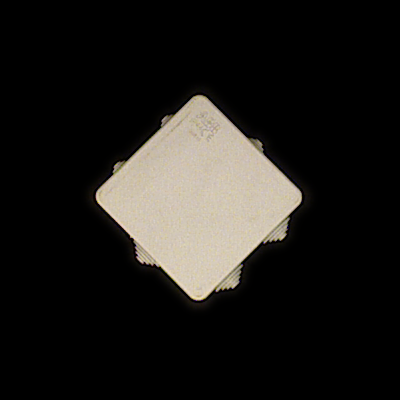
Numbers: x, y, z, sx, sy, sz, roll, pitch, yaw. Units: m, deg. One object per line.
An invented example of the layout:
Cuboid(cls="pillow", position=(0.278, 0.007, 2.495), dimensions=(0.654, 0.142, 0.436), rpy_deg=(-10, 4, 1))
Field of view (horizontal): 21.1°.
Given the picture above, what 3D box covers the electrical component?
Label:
Cuboid(cls="electrical component", position=(0.000, 0.000, 0.642), dimensions=(0.100, 0.099, 0.048), rpy_deg=(-44, -4, -4))
